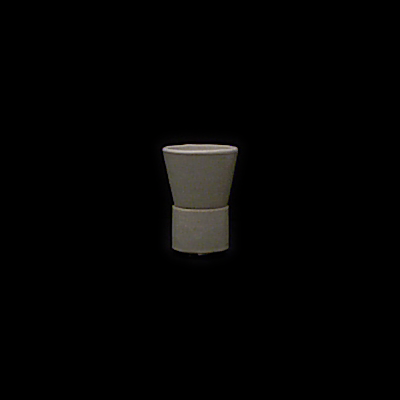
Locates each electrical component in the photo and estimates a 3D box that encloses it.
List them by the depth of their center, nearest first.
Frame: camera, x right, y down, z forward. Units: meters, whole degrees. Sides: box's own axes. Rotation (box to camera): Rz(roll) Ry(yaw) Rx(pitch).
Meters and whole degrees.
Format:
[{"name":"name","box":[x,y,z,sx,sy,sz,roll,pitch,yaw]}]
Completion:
[{"name":"electrical component","box":[0.000,0.000,0.645,0.044,0.066,0.044,0,11,0]}]
